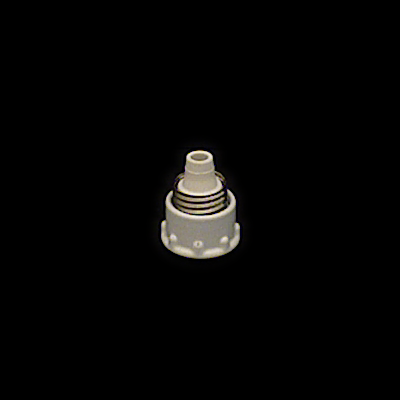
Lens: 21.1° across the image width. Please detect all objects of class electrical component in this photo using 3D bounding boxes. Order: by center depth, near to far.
[{"bbox_3d":[0.000,0.000,0.641,0.048,0.063,0.047,0,31,1],"label":"electrical component"}]
